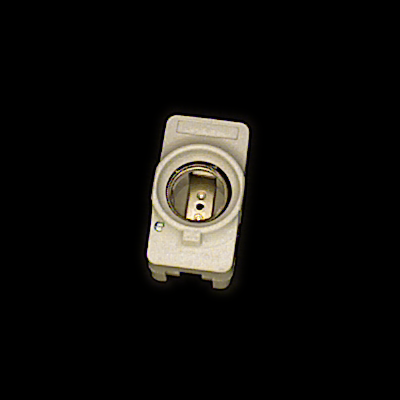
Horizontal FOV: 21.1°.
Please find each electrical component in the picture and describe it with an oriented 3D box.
[{"bbox_3d":[0.000,0.000,0.636,0.050,0.090,0.055,7,-16,2],"label":"electrical component"}]
